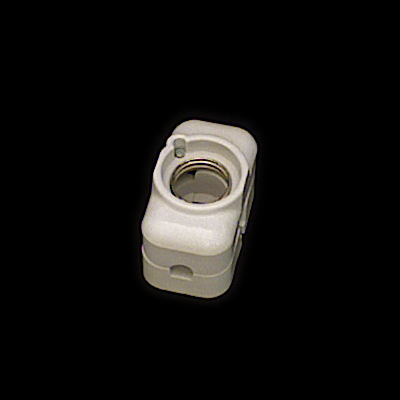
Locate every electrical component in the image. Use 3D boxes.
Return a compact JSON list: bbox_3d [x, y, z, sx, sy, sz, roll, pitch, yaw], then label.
[{"bbox_3d":[0.000,0.000,0.635,0.053,0.095,0.059,10,-37,7],"label":"electrical component"}]
